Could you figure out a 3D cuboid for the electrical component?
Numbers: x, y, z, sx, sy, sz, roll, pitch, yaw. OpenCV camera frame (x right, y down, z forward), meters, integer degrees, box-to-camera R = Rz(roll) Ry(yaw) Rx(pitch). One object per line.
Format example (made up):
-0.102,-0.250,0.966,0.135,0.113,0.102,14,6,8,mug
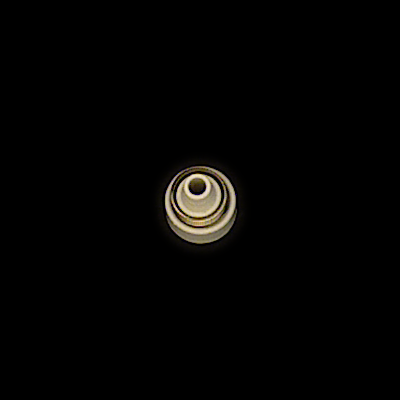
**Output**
0.000,0.000,0.634,0.043,0.043,0.062,0,-16,2,electrical component
